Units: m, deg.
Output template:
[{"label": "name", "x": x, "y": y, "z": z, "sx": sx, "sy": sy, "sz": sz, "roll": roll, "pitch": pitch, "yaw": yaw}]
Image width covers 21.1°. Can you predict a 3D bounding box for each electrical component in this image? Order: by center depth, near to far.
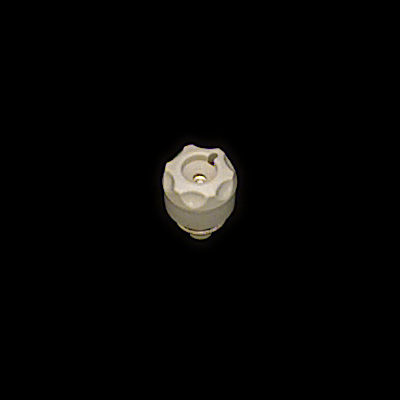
[{"label": "electrical component", "x": 0.000, "y": 0.000, "z": 0.635, "sx": 0.043, "sy": 0.043, "sz": 0.062, "roll": 0, "pitch": -36, "yaw": 0}]
